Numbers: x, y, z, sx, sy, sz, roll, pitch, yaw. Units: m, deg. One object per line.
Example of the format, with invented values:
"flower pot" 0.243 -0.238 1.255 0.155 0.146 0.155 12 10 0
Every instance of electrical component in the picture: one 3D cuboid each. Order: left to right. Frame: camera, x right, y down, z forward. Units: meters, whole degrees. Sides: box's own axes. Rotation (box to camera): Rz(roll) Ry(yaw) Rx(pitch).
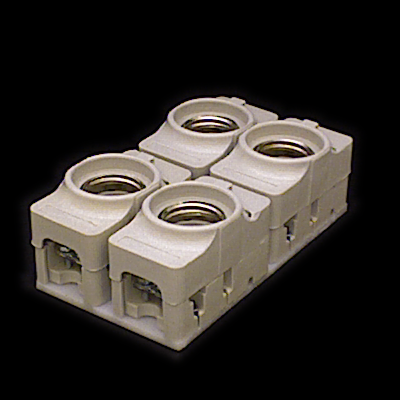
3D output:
"electrical component" 0.000 0.000 0.634 0.104 0.061 0.185 21 36 30
